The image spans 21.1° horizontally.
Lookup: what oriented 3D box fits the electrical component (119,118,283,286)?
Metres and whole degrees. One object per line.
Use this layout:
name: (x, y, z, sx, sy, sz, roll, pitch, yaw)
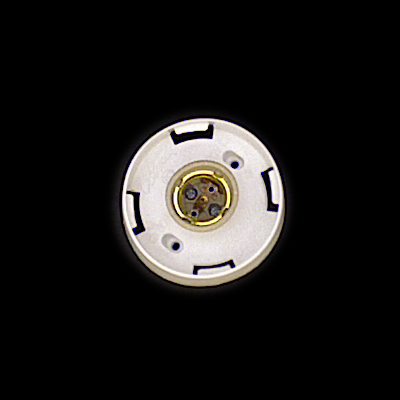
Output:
electrical component: (0.000, 0.000, 0.625, 0.099, 0.099, 0.064, 0, -7, 1)
